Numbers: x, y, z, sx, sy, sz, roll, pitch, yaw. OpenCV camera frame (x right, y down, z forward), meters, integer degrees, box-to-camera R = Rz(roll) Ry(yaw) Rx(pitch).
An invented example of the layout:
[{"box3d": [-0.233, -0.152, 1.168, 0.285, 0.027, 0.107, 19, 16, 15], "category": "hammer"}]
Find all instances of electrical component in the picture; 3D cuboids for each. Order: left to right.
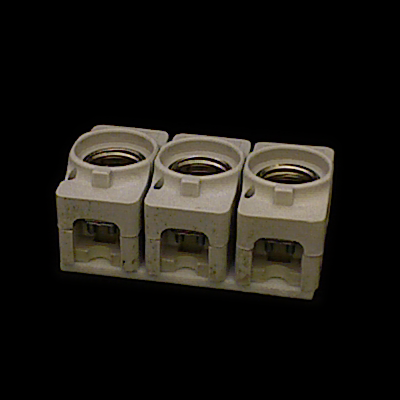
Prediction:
[{"box3d": [0.000, 0.000, 0.639, 0.150, 0.063, 0.087, 6, 32, 9], "category": "electrical component"}]
